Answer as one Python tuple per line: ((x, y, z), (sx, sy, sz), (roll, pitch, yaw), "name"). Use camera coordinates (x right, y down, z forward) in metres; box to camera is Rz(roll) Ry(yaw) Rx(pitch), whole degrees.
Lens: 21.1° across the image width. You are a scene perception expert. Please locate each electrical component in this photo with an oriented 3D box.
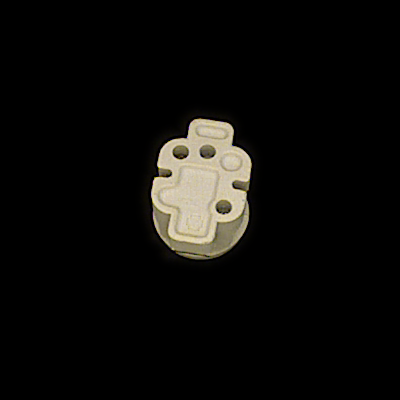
((0.000, 0.000, 0.635), (0.058, 0.079, 0.056), (8, -25, 4), "electrical component")
